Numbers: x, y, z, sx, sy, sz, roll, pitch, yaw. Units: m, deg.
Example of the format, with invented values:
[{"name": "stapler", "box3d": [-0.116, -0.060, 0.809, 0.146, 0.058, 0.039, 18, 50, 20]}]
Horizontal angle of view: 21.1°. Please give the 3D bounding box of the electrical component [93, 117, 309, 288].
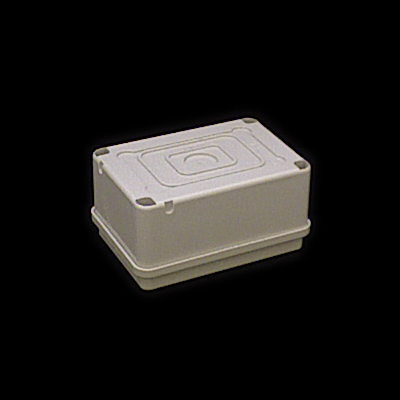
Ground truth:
[{"name": "electrical component", "box3d": [0.000, 0.000, 0.635, 0.113, 0.058, 0.077, -13, 34, -23]}]
